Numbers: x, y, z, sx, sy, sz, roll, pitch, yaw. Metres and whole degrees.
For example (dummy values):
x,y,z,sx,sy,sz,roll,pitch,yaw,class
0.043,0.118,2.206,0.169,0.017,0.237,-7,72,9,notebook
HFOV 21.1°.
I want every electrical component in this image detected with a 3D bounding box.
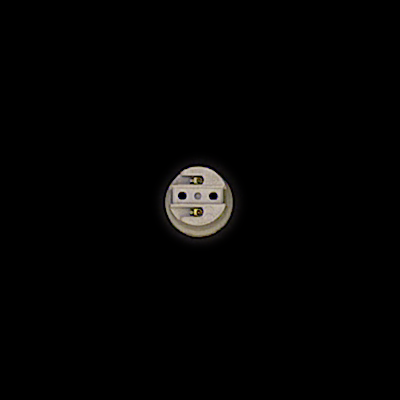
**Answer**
x,y,z,sx,sy,sz,roll,pitch,yaw,class
0.000,0.000,0.634,0.040,0.040,0.046,0,-7,0,electrical component
